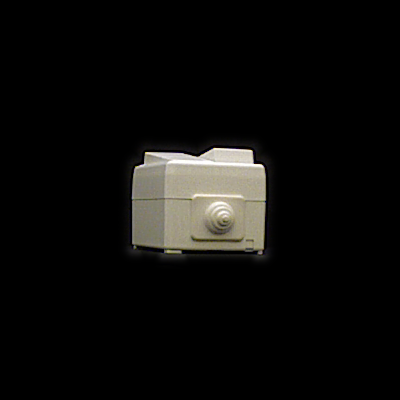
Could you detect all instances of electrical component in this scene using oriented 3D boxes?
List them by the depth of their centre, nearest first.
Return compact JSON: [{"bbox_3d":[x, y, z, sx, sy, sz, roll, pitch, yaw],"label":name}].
[{"bbox_3d":[0.000,0.000,0.647,0.062,0.061,0.096,1,0,-18],"label":"electrical component"}]
